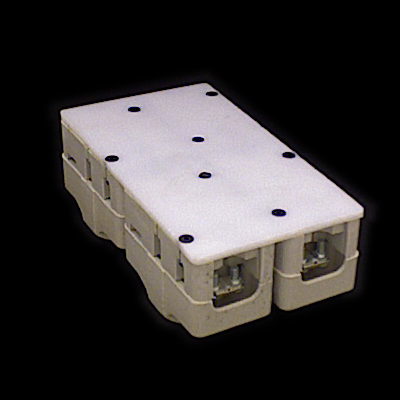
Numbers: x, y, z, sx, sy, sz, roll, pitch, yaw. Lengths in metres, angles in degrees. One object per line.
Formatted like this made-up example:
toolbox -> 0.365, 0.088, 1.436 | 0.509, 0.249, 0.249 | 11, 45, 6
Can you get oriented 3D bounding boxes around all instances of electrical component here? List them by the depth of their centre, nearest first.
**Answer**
electrical component -> 0.000, 0.000, 0.633 | 0.105, 0.061, 0.184 | -14, 34, -24
